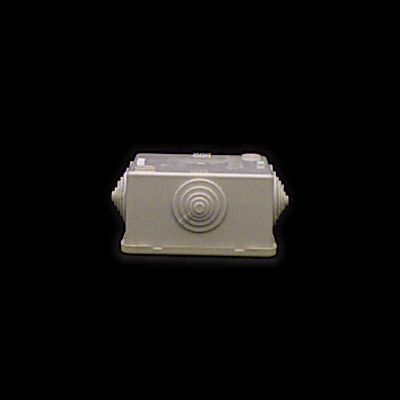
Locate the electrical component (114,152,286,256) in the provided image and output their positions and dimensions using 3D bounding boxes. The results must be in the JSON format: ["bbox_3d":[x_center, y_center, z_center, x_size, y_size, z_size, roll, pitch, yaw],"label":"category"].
[{"bbox_3d":[0.000,0.000,0.646,0.100,0.049,0.099,1,10,0],"label":"electrical component"}]
